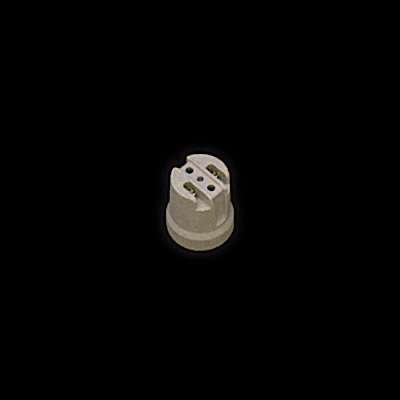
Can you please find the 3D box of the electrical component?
[{"bbox_3d":[0.000,0.000,0.633,0.040,0.040,0.046,0,-37,0],"label":"electrical component"}]
